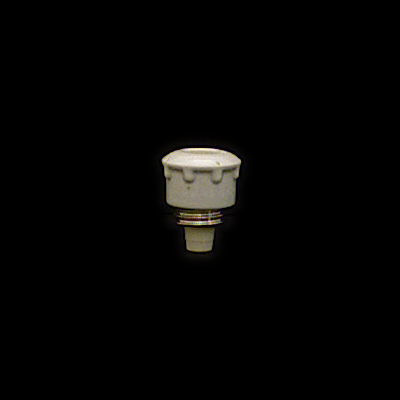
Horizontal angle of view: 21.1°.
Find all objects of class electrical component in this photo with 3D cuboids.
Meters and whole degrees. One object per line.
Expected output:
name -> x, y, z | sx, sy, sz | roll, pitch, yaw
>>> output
electrical component -> 0.000, 0.000, 0.654 | 0.048, 0.062, 0.048 | 1, 11, 0
